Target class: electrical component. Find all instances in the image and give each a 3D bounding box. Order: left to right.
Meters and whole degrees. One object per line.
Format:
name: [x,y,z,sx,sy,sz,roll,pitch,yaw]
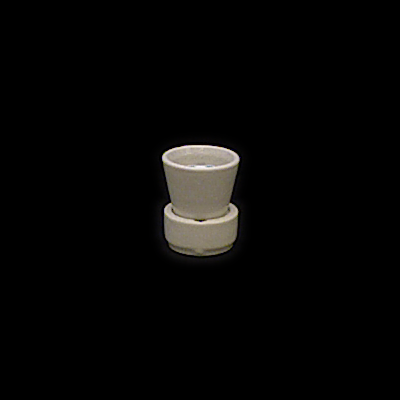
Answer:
electrical component: [0.000,0.000,0.638,0.045,0.056,0.044,0,21,0]
